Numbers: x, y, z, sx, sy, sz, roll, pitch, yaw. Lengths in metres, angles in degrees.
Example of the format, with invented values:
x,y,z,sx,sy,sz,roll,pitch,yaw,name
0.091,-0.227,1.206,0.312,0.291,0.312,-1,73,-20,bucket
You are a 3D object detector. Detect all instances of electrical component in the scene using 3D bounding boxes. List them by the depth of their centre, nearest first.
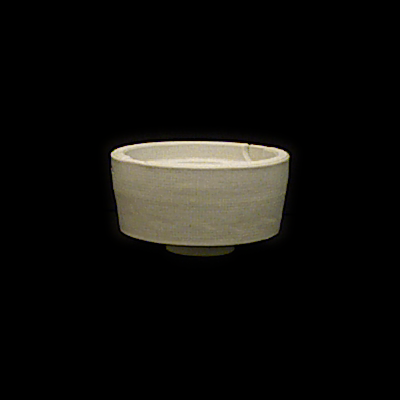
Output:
x,y,z,sx,sy,sz,roll,pitch,yaw,name
0.000,0.000,0.655,0.108,0.061,0.107,1,11,0,electrical component
